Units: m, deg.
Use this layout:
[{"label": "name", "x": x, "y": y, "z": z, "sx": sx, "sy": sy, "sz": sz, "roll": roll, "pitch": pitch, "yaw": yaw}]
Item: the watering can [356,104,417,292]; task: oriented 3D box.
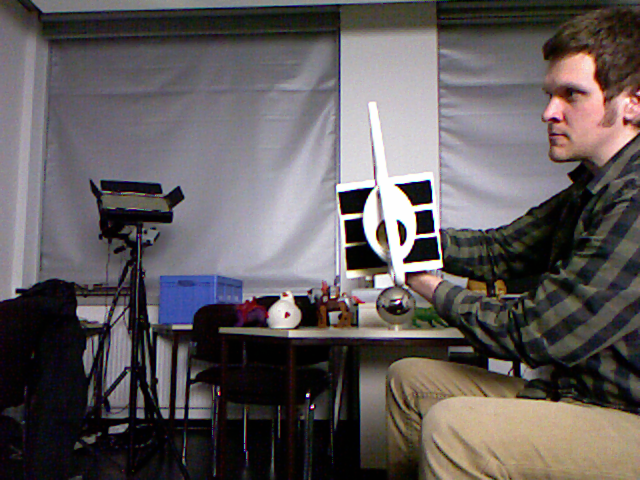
[{"label": "watering can", "x": 0.125, "y": -0.076, "z": 1.012, "sx": 0.104, "sy": 0.349, "sz": 0.225, "roll": -8, "pitch": 0, "yaw": 0}]
